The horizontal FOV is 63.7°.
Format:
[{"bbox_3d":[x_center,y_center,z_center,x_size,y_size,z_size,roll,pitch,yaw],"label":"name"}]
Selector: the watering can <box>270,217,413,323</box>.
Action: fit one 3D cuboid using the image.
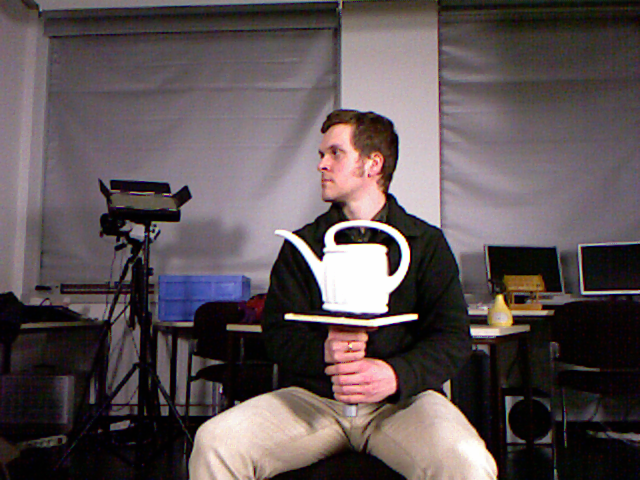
[{"bbox_3d":[0.037,0.065,1.099,0.347,0.225,0.104,0,0,34],"label":"watering can"}]
